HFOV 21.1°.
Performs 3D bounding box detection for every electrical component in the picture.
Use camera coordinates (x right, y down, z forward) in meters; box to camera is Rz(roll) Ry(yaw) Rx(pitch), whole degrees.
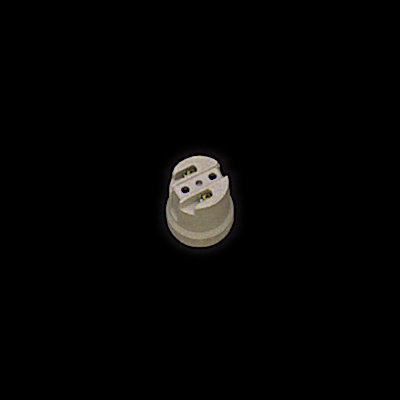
[{"bbox_3d":[0.000,0.000,0.633,0.040,0.040,0.046,0,-27,0],"label":"electrical component"}]
